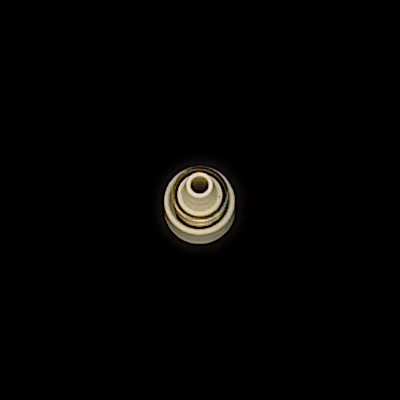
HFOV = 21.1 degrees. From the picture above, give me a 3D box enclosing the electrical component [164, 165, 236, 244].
[{"bbox_3d":[0.000,0.000,0.634,0.043,0.043,0.061,0,-17,0],"label":"electrical component"}]
